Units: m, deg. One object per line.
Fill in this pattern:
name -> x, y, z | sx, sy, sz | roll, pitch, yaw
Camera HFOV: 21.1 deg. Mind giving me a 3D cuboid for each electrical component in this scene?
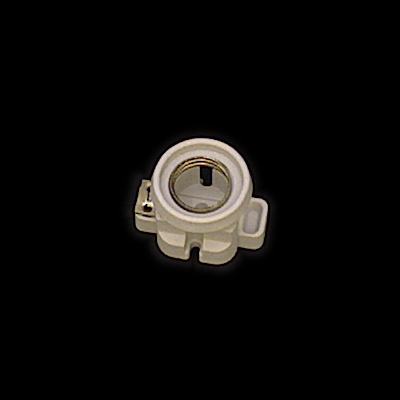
electrical component -> 0.000, 0.000, 0.628 | 0.078, 0.058, 0.057 | 9, -27, 5
